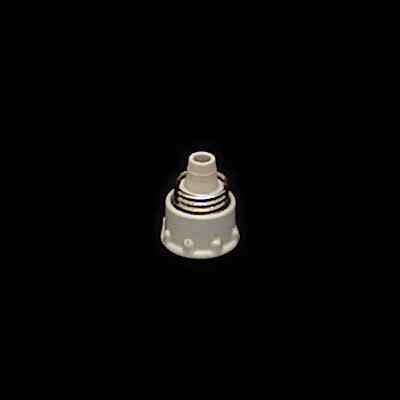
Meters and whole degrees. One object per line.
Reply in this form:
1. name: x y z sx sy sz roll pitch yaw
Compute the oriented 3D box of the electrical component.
1. electrical component: 0.000 0.000 0.641 0.048 0.063 0.047 1 33 0
